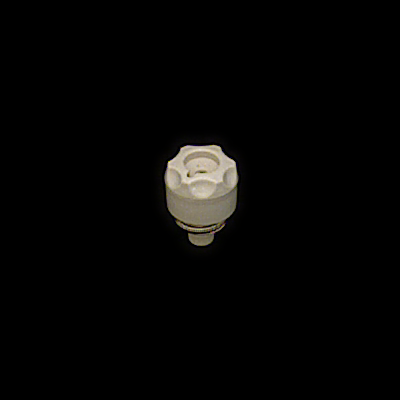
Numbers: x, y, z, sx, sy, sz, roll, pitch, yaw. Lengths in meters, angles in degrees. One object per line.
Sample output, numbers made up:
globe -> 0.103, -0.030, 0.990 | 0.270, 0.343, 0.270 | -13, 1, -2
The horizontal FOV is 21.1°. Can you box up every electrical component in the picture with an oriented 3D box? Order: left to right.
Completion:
electrical component -> 0.000, 0.000, 0.639 | 0.043, 0.062, 0.043 | 1, 42, 0
